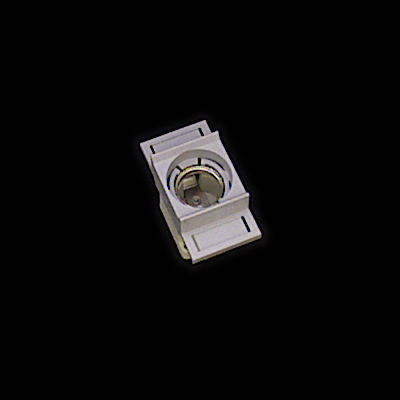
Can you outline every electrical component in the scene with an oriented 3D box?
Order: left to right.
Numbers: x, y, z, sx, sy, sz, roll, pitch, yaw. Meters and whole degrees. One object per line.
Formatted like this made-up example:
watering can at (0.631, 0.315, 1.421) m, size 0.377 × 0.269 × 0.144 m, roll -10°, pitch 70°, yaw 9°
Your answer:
electrical component at (0.000, 0.000, 0.625) m, size 0.042 × 0.080 × 0.064 m, roll -21°, pitch -25°, yaw -9°
